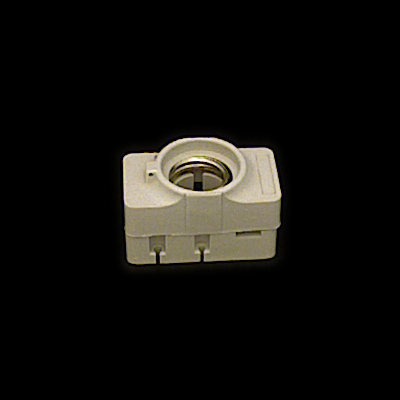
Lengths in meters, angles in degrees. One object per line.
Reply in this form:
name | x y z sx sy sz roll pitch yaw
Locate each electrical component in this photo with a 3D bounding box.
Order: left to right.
electrical component | 0.000 0.000 0.640 0.090 0.056 0.049 -3 43 -4
